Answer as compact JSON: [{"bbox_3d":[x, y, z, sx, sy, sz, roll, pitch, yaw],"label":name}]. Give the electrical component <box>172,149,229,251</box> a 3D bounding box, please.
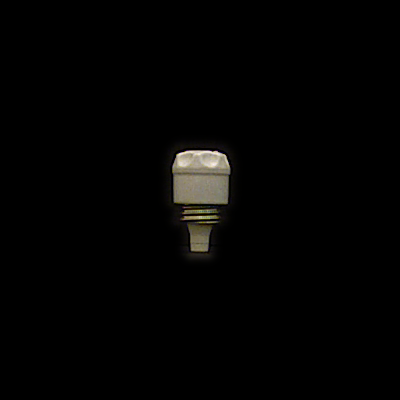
[{"bbox_3d":[0.000,0.000,0.655,0.035,0.061,0.035,1,2,0],"label":"electrical component"}]
